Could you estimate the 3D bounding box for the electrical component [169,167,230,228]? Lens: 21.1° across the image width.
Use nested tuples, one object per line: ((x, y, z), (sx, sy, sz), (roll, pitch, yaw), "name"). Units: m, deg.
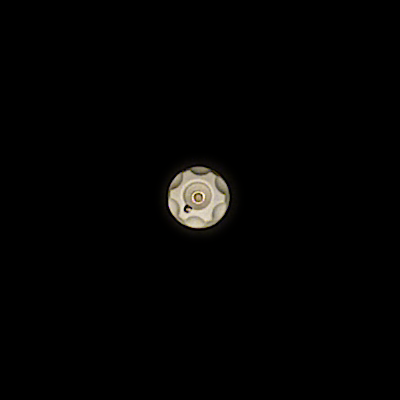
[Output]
((0.000, 0.000, 0.634), (0.035, 0.035, 0.061), (0, -5, 1), "electrical component")
